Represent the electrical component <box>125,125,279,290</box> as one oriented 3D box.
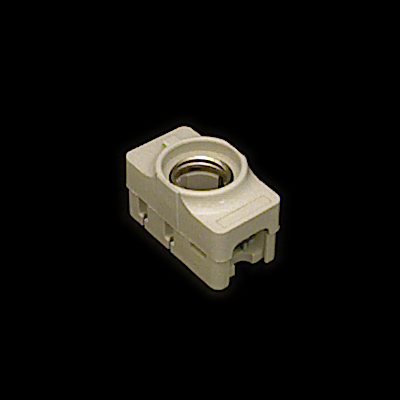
[{"bbox_3d":[0.000,0.000,0.640,0.050,0.056,0.088,-29,51,-28],"label":"electrical component"}]
